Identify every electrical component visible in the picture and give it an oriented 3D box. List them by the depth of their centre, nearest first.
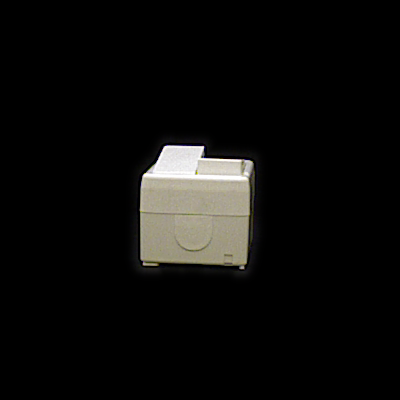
[{"bbox_3d":[0.000,0.000,0.647,0.062,0.061,0.095,2,10,5],"label":"electrical component"}]
